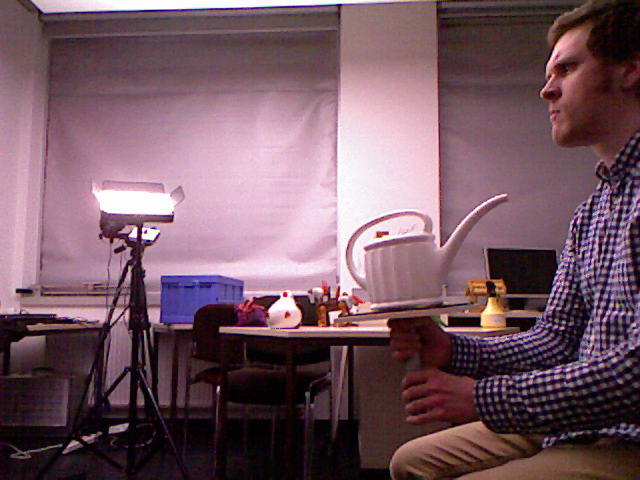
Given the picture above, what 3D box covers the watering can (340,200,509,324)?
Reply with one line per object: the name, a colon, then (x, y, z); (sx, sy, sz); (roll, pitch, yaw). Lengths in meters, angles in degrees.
watering can: (0.193, 0.047, 0.976); (0.346, 0.225, 0.104); (-10, -4, 31)
